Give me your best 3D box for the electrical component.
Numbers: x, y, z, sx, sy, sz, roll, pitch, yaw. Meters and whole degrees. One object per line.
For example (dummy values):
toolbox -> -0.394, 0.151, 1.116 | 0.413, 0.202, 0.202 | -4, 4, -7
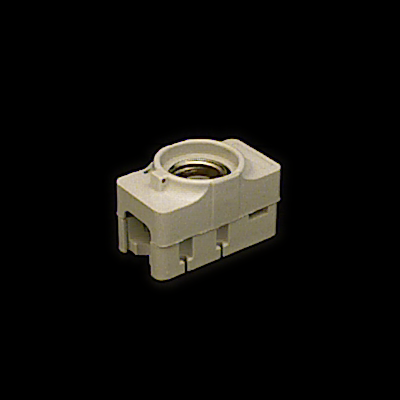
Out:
electrical component -> 0.000, 0.000, 0.643 | 0.090, 0.056, 0.049 | -21, 38, -32
